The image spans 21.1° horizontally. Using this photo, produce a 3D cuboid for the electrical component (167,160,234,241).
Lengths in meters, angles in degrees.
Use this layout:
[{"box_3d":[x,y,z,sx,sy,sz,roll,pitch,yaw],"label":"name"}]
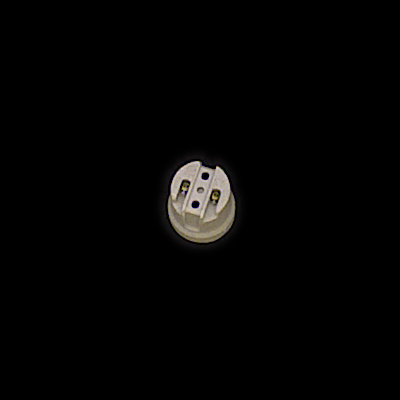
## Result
[{"box_3d":[0.000,0.000,0.633,0.040,0.040,0.046,0,-17,1],"label":"electrical component"}]
